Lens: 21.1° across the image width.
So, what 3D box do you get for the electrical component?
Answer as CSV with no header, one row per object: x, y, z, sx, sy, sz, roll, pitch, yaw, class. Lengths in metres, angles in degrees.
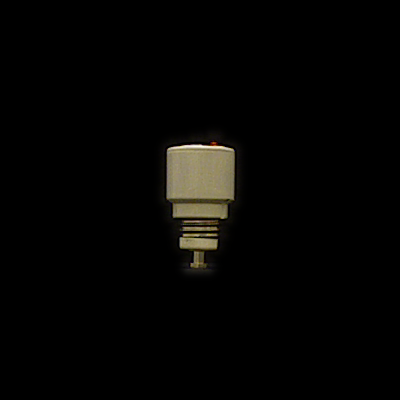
0.000,0.000,0.651,0.040,0.078,0.040,1,1,0,electrical component
